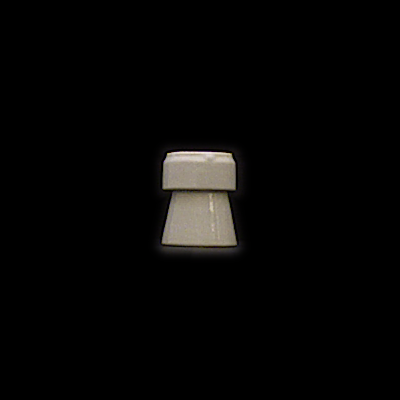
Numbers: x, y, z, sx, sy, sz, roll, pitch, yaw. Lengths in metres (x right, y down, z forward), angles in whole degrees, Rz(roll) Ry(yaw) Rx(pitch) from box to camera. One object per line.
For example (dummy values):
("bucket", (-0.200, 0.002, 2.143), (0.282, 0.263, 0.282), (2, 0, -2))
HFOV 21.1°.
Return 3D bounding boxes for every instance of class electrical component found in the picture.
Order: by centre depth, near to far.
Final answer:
("electrical component", (0.000, 0.000, 0.649), (0.045, 0.055, 0.045), (1, 0, 0))
